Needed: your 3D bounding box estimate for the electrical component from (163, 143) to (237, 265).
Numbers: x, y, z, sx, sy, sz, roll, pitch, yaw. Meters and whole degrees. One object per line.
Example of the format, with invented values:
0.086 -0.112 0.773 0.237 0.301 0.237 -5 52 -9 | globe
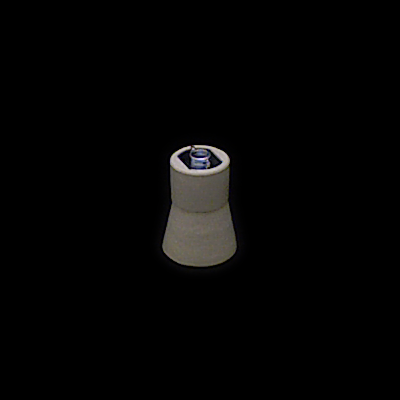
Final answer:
0.000 0.000 0.633 0.044 0.066 0.044 0 32 0 | electrical component
